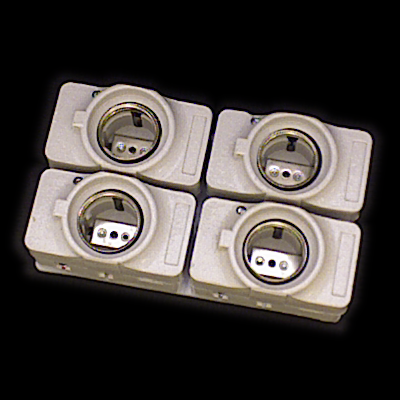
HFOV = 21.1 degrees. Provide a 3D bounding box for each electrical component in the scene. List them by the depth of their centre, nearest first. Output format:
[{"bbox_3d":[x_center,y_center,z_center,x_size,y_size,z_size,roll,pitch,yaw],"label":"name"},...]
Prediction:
[{"bbox_3d":[0.000,0.000,0.625,0.186,0.106,0.060,10,-17,3],"label":"electrical component"}]
